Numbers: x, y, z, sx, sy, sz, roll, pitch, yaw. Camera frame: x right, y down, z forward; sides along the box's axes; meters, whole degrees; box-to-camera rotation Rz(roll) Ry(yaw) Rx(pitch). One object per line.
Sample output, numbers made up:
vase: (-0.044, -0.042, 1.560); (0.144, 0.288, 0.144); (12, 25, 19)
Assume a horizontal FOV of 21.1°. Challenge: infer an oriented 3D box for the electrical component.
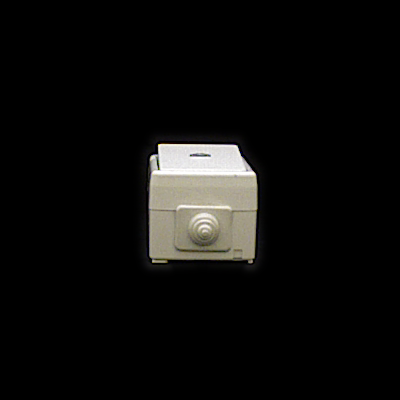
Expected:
electrical component: (0.000, 0.000, 0.642); (0.062, 0.061, 0.095); (0, 10, -4)
